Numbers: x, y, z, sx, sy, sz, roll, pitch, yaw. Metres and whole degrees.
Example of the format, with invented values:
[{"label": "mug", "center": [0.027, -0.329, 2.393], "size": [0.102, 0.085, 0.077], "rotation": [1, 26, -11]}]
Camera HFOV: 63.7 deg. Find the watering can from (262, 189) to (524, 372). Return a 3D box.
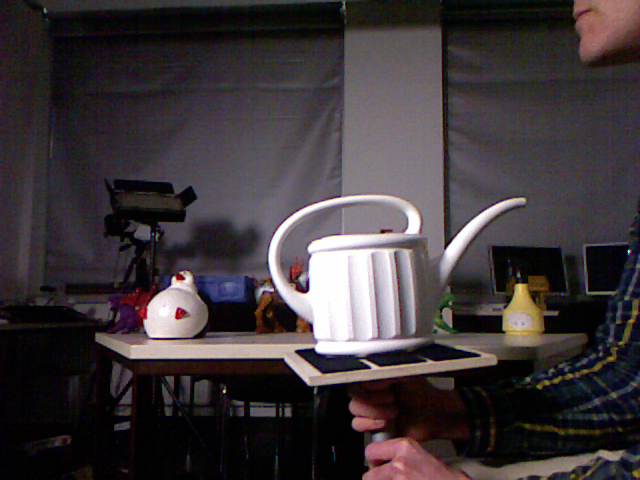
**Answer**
[{"label": "watering can", "center": [0.105, 0.047, 0.641], "size": [0.350, 0.226, 0.104], "rotation": [-4, 0, -12]}]
